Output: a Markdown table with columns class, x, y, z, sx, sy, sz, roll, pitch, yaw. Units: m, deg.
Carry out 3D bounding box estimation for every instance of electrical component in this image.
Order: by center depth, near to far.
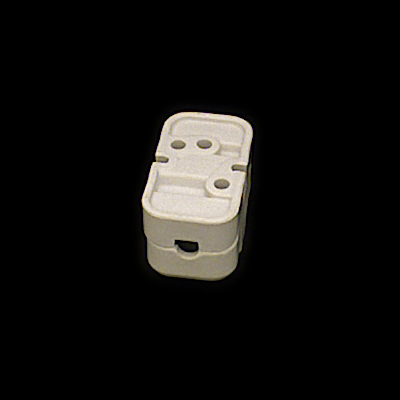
| class | x | y | z | sx | sy | sz | roll | pitch | yaw |
| --- | --- | --- | --- | --- | --- | --- | --- | --- | --- |
| electrical component | 0.000 | 0.000 | 0.637 | 0.053 | 0.060 | 0.094 | 6 | 43 | 6 |
